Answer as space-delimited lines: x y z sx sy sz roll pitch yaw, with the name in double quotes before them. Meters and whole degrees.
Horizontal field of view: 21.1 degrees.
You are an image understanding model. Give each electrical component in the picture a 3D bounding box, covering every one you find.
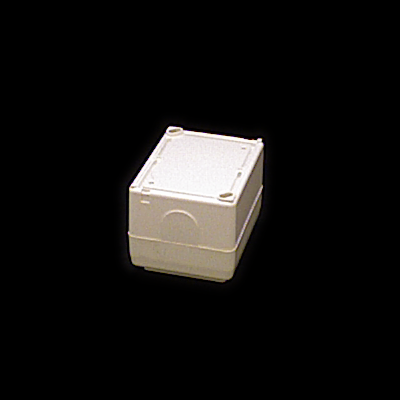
"electrical component" 0.000 0.000 0.636 0.061 0.061 0.095 8 31 12
